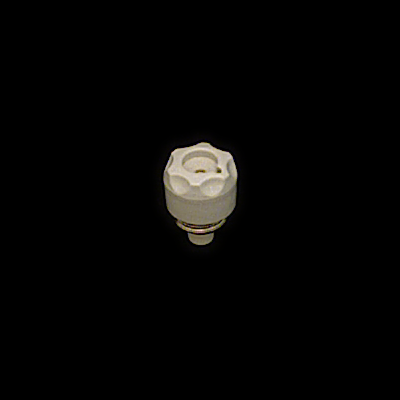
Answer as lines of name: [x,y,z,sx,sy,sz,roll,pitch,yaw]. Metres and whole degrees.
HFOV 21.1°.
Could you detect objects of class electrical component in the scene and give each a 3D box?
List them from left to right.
electrical component: [0.000,0.000,0.638,0.043,0.062,0.043,0,42,1]
